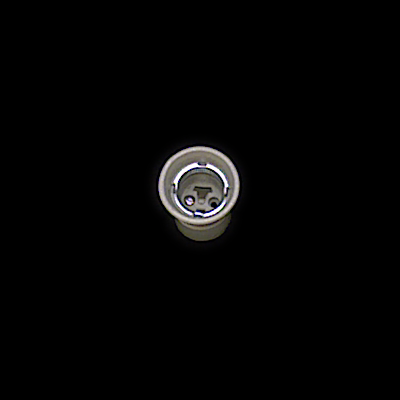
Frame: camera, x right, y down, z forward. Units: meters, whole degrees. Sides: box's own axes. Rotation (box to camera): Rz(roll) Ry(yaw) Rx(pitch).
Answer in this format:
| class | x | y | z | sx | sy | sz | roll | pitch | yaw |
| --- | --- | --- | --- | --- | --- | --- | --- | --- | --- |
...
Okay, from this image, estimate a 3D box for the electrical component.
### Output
| class | x | y | z | sx | sy | sz | roll | pitch | yaw |
| --- | --- | --- | --- | --- | --- | --- | --- | --- | --- |
| electrical component | 0.000 | 0.000 | 0.624 | 0.044 | 0.044 | 0.065 | 0 | -16 | 2 |
